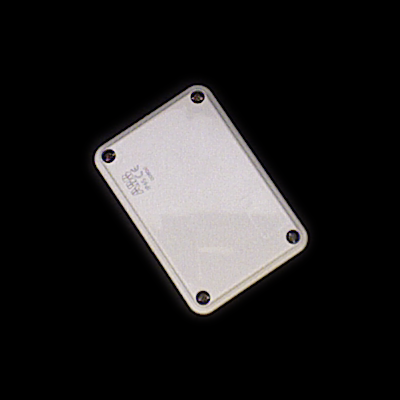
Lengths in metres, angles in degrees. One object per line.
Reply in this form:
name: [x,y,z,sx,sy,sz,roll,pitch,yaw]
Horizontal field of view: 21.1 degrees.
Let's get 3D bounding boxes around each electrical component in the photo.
electrical component: [0.000,0.000,0.627,0.078,0.113,0.057,-34,-5,-3]
